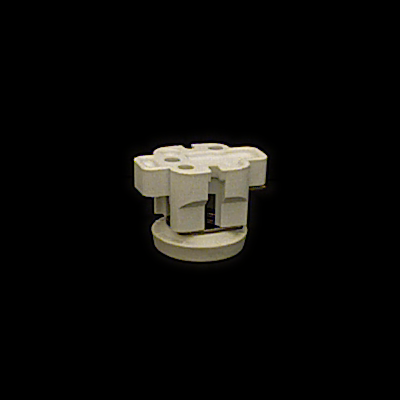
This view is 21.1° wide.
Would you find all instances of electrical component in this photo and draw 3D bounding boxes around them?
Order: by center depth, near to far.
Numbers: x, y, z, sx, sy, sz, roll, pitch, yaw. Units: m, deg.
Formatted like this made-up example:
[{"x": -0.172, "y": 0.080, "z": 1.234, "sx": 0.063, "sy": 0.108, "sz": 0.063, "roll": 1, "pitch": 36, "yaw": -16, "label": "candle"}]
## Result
[{"x": 0.000, "y": 0.000, "z": 0.648, "sx": 0.079, "sy": 0.057, "sz": 0.057, "roll": -6, "pitch": 22, "yaw": -21, "label": "electrical component"}]
